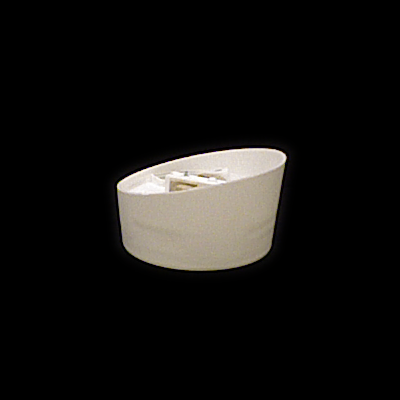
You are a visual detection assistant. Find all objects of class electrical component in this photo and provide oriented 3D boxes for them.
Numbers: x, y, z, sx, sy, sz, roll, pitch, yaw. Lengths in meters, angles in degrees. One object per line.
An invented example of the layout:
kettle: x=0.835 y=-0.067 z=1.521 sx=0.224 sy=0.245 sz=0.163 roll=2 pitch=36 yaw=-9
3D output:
electrical component: x=0.000 y=0.000 z=0.638 sx=0.099 sy=0.065 sz=0.097 roll=2 pitch=20 yaw=-1
